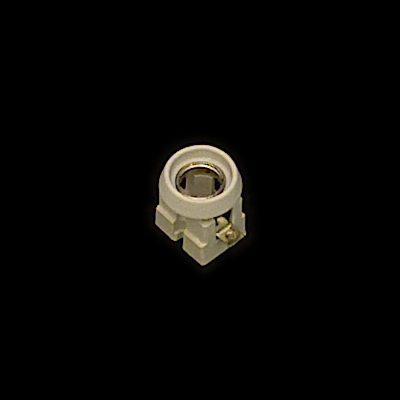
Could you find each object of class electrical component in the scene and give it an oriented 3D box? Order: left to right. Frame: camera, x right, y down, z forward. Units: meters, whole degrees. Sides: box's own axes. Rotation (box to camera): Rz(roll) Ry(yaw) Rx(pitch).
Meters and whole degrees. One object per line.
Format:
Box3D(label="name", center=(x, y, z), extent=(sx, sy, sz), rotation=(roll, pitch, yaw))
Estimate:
Box3D(label="electrical component", center=(0.000, 0.000, 0.638), extent=(0.048, 0.056, 0.066), rotation=(-39, 62, -23))
